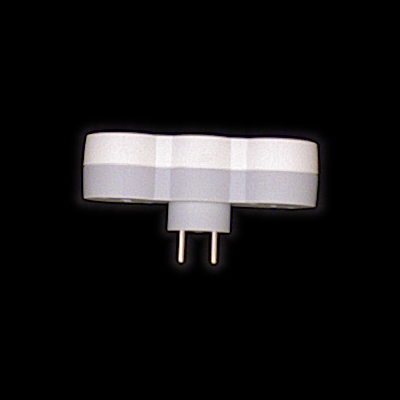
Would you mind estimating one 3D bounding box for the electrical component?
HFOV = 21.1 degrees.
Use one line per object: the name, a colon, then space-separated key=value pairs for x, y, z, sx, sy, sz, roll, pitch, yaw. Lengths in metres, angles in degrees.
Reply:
electrical component: x=0.000 y=0.000 z=0.632 sx=0.138 sy=0.074 sz=0.052 roll=2 pitch=-5 yaw=-1
